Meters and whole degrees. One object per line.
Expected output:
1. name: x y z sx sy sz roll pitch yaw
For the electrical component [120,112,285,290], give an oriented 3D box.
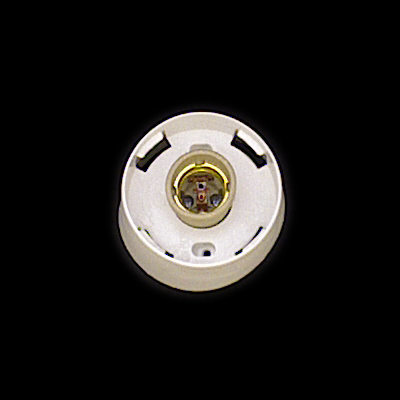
1. electrical component: 0.000 0.000 0.625 0.099 0.099 0.064 0 -17 0
